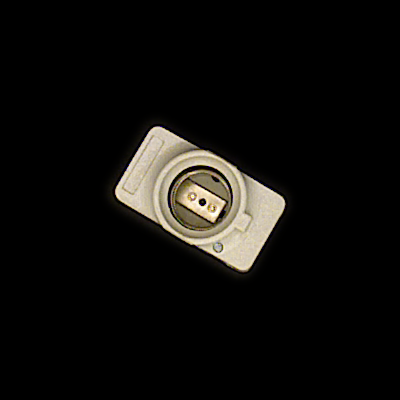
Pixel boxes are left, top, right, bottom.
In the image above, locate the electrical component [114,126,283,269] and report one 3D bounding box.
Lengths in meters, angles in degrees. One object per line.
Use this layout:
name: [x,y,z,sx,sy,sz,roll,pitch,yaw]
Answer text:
electrical component: [0.000,0.000,0.637,0.089,0.050,0.055,30,-4,3]
